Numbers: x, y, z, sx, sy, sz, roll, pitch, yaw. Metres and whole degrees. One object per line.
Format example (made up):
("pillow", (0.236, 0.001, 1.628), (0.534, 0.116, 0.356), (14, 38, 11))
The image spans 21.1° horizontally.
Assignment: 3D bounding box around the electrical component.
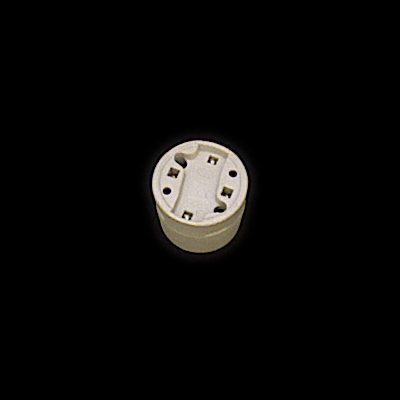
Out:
("electrical component", (0.000, 0.000, 0.633), (0.055, 0.056, 0.047), (0, -27, 0))
